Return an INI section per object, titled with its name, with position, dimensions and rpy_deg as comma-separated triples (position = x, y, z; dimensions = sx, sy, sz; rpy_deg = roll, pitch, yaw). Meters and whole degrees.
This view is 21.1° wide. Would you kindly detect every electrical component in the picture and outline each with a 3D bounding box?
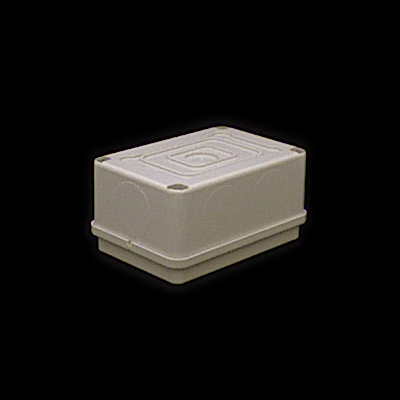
[electrical component]
position = 0.000, 0.000, 0.639
dimensions = 0.113, 0.058, 0.077
rpy_deg = -19, 29, -41
